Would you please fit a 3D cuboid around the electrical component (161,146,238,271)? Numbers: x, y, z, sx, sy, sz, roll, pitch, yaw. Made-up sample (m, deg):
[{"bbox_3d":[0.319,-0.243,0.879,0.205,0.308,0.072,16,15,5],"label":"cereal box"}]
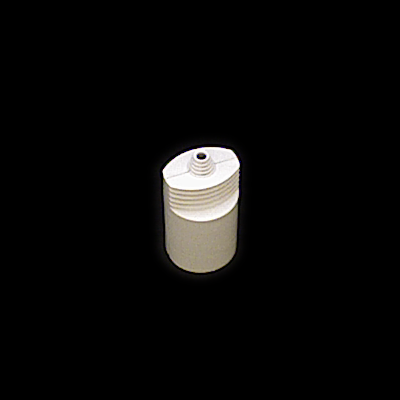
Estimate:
[{"bbox_3d":[0.000,0.000,0.620,0.043,0.043,0.081,0,-38,0],"label":"electrical component"}]
